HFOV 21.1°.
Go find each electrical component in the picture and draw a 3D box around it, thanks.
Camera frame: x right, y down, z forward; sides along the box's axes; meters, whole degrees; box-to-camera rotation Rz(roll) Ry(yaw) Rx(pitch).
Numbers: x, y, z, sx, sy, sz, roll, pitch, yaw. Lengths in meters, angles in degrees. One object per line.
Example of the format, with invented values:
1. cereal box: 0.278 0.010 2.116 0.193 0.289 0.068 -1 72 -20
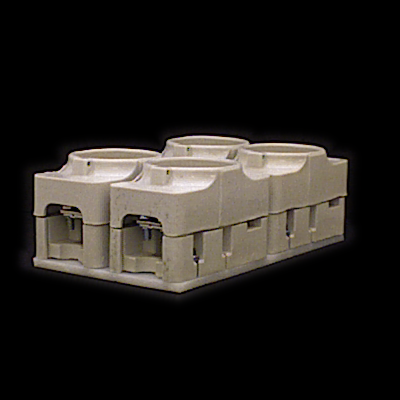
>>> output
1. electrical component: 0.000 0.000 0.643 0.105 0.061 0.186 8 12 34
